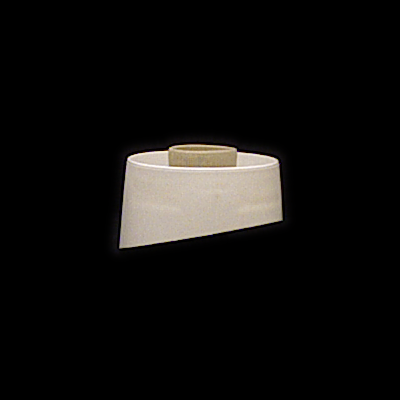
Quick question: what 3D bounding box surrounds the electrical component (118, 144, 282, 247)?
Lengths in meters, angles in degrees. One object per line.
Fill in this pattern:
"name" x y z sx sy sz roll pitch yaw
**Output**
"electrical component" 0.000 0.000 0.644 0.099 0.064 0.098 1 10 0
